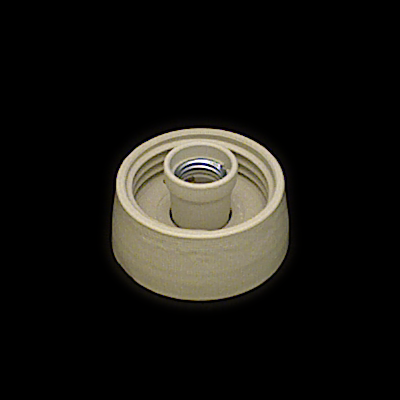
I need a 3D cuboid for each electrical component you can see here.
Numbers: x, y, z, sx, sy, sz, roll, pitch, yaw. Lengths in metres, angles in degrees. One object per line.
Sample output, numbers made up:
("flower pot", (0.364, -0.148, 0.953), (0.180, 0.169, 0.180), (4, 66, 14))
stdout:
("electrical component", (0.000, 0.000, 0.636), (0.108, 0.061, 0.107), (1, 43, 0))
